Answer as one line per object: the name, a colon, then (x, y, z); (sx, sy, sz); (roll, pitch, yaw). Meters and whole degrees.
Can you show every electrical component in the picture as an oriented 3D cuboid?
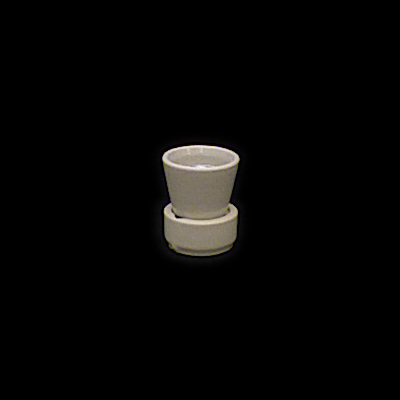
electrical component: (0.000, 0.000, 0.639); (0.045, 0.056, 0.044); (1, 21, 0)
